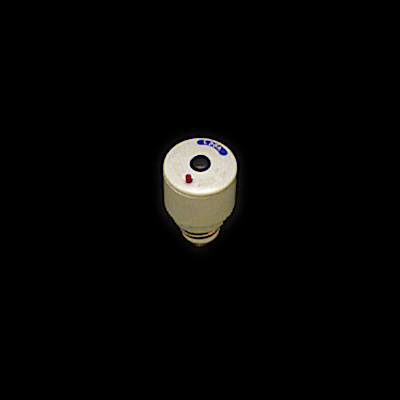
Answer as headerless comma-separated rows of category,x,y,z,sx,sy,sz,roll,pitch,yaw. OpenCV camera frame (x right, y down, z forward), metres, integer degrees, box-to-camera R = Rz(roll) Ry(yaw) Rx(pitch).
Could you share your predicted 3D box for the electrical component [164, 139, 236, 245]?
electrical component,0.000,0.000,0.619,0.040,0.040,0.078,0,-37,0
